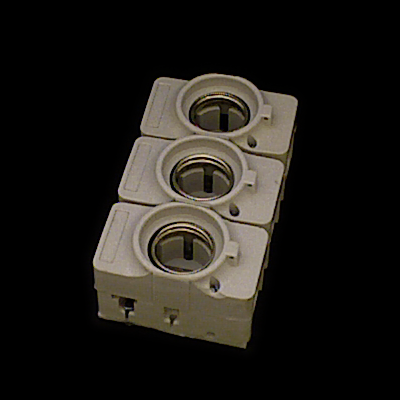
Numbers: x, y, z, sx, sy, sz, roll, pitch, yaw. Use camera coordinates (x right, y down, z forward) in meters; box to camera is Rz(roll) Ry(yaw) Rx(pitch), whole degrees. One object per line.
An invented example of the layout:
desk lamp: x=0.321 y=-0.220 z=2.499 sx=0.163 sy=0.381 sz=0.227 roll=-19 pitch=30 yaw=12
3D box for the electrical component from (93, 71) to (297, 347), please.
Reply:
electrical component: x=0.000 y=0.000 z=0.634 sx=0.089 sy=0.148 sz=0.062 roll=10 pitch=-36 yaw=7
